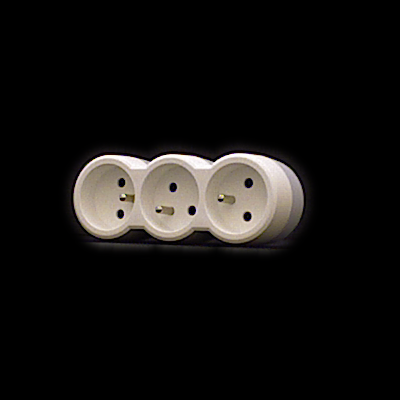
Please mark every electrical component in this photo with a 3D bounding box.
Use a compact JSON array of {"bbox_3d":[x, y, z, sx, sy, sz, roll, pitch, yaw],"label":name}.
[{"bbox_3d":[0.000,0.000,0.651,0.137,0.052,0.074,0,-2,29],"label":"electrical component"}]
